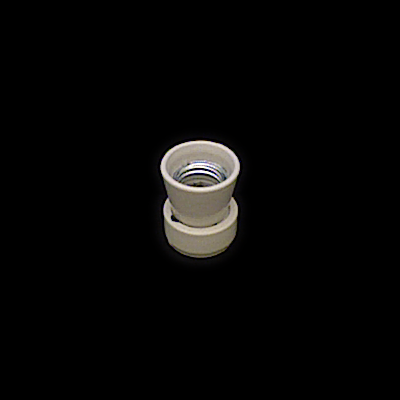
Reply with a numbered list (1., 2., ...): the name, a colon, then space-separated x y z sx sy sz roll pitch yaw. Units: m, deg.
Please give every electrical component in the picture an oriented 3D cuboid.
1. electrical component: 0.000 0.000 0.632 0.045 0.055 0.044 1 41 0
